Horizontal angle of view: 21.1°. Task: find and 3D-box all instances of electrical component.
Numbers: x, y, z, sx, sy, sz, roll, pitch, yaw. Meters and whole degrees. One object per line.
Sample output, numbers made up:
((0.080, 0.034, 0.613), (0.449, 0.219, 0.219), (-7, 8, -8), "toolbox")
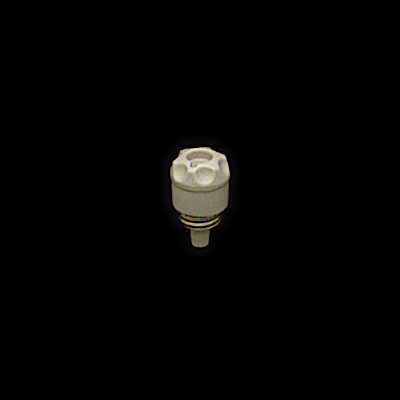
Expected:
((0.000, 0.000, 0.640), (0.035, 0.062, 0.035), (0, 32, 0), "electrical component")
